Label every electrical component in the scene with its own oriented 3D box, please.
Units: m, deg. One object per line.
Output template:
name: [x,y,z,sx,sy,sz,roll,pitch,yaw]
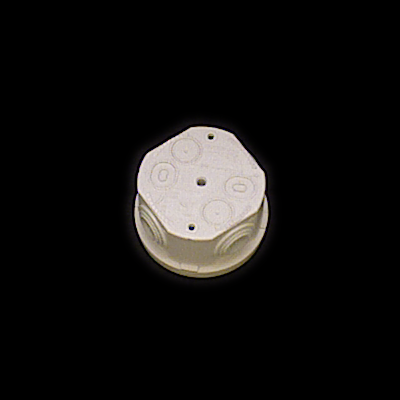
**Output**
electrical component: [0.000,0.000,0.631,0.080,0.080,0.050,0,-26,0]
